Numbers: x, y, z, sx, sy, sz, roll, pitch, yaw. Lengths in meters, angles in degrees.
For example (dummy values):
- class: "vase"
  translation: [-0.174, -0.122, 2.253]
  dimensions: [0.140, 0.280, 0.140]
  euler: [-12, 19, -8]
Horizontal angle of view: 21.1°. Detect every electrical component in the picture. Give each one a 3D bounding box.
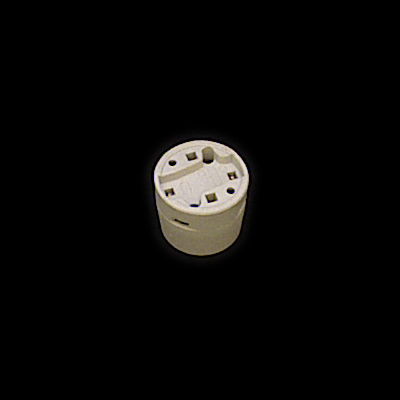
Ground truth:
- class: "electrical component"
  translation: [0.000, 0.000, 0.636]
  dimensions: [0.055, 0.055, 0.047]
  euler: [0, -38, 0]
